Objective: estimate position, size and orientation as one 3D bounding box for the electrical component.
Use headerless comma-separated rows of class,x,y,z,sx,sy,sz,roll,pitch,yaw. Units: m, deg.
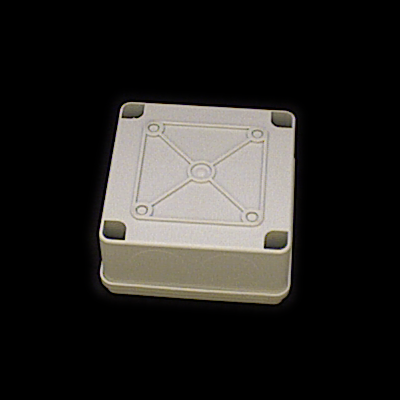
electrical component,0.000,0.000,0.629,0.109,0.108,0.056,4,-38,3
